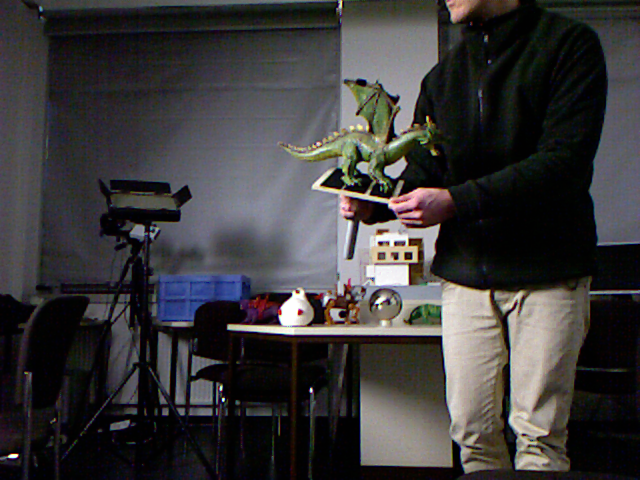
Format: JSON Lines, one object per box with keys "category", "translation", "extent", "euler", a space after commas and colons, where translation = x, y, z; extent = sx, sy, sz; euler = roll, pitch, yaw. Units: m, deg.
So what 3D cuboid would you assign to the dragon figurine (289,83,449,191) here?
{"category": "dragon figurine", "translation": [0.104, -0.263, 1.258], "extent": [0.413, 0.238, 0.124], "euler": [19, 30, 20]}
